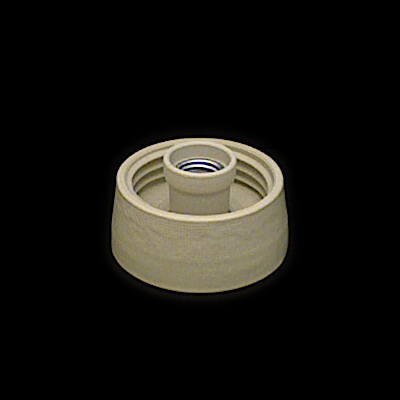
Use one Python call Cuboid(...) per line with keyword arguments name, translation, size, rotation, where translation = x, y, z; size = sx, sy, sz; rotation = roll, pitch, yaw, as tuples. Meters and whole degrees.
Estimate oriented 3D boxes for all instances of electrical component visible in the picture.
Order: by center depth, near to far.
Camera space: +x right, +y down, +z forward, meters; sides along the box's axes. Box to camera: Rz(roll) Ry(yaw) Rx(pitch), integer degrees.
Cuboid(name="electrical component", translation=(0.000, 0.000, 0.640), size=(0.108, 0.061, 0.106), rotation=(1, 32, 0))
